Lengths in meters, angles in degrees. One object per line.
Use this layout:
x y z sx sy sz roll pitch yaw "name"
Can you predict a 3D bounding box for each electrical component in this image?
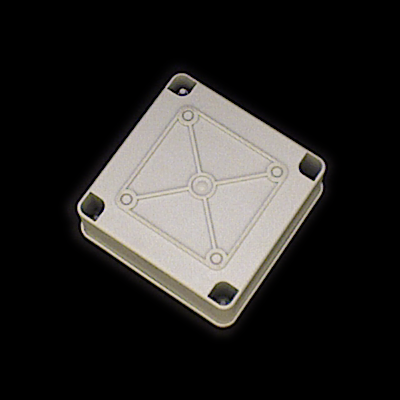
0.000 0.000 0.628 0.108 0.109 0.056 33 -15 10 "electrical component"
